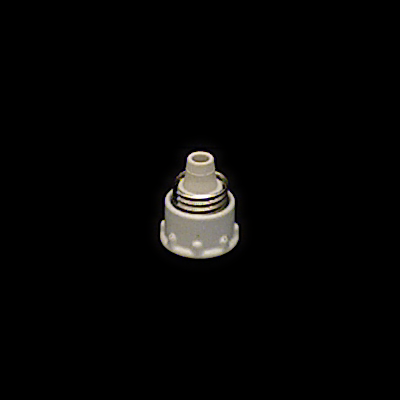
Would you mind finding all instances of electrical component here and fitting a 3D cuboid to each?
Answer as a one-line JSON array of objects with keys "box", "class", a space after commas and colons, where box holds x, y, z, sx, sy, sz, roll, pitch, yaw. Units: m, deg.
[{"box": [0.000, 0.000, 0.640, 0.048, 0.063, 0.047, 1, 33, 0], "class": "electrical component"}]
